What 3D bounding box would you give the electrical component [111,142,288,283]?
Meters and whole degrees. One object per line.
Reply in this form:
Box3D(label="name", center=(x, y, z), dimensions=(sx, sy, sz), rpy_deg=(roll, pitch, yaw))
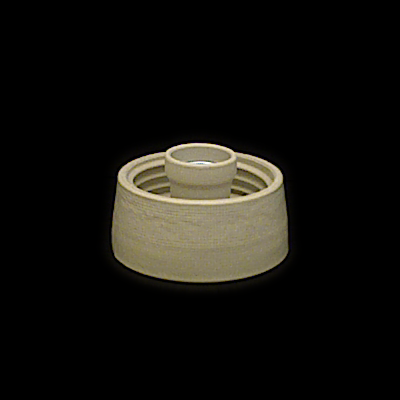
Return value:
Box3D(label="electrical component", center=(0.000, 0.000, 0.644), dimensions=(0.108, 0.061, 0.106), rpy_deg=(1, 22, 0))
